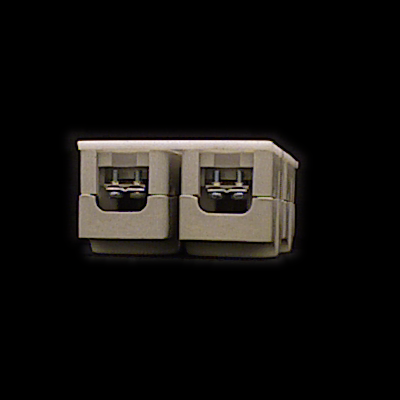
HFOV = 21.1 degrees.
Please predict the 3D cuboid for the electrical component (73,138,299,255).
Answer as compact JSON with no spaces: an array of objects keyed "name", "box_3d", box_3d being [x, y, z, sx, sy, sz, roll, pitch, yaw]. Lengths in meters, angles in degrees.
[{"name":"electrical component","box_3d":[0.000,0.000,0.650,0.105,0.060,0.186,1,-1,10]}]
